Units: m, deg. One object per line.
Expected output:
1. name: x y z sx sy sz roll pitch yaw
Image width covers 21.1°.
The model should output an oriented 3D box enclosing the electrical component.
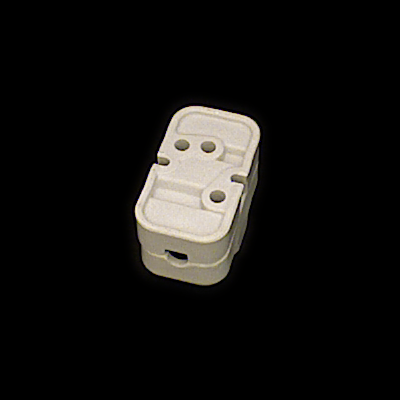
1. electrical component: 0.000 0.000 0.635 0.053 0.095 0.059 13 -35 10
